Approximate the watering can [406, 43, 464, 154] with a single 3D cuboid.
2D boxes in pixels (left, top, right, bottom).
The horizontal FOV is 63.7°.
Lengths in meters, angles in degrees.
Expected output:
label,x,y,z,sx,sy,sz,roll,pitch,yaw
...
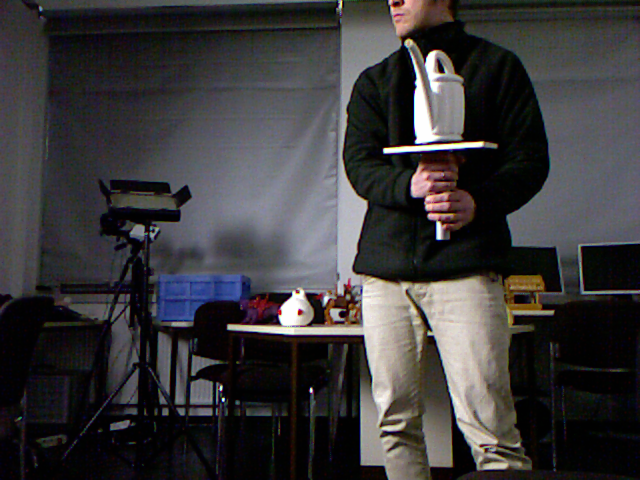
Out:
label,x,y,z,sx,sy,sz,roll,pitch,yaw
watering can,0.243,-0.297,1.102,0.104,0.223,0.351,4,11,28
